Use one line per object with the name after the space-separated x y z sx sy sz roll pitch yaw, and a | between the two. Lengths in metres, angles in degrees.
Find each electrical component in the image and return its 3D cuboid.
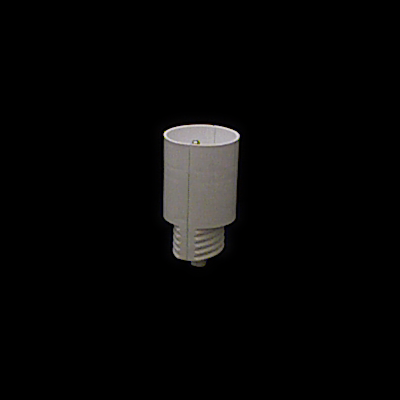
0.000 0.000 0.632 0.043 0.082 0.042 0 22 0 | electrical component
